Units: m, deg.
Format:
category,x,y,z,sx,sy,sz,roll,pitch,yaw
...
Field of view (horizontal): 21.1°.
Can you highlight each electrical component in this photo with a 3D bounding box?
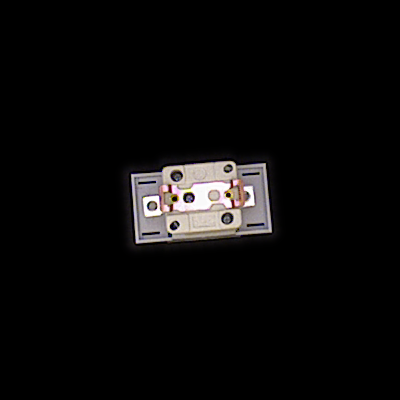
category,x,y,z,sx,sy,sz,roll,pitch,yaw
electrical component,0.000,0.000,0.626,0.081,0.042,0.063,-5,-6,0
